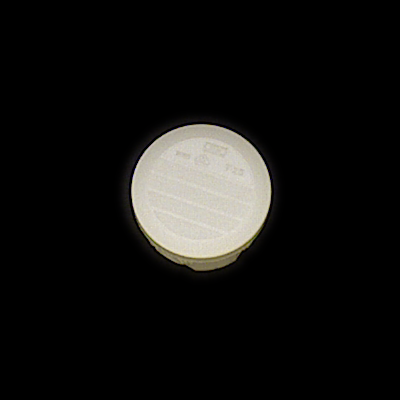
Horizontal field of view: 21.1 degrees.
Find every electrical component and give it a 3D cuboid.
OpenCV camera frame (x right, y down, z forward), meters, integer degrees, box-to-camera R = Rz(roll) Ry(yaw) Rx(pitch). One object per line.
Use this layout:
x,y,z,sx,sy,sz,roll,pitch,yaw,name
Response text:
0.000,0.000,0.629,0.080,0.080,0.050,0,-17,0,electrical component
